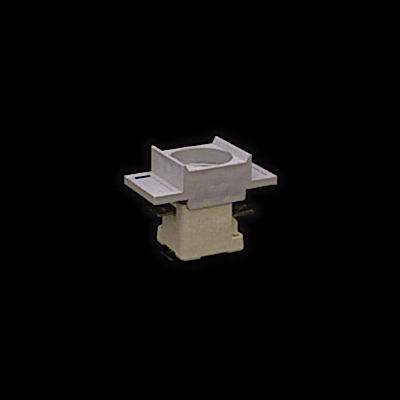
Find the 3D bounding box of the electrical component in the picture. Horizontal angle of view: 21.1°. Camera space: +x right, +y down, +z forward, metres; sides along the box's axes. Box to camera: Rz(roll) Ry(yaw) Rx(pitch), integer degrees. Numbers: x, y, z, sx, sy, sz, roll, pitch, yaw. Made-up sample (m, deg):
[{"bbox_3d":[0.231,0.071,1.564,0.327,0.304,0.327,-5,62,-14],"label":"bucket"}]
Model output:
[{"bbox_3d":[0.000,0.000,0.640,0.081,0.064,0.041,-10,23,-26],"label":"electrical component"}]
